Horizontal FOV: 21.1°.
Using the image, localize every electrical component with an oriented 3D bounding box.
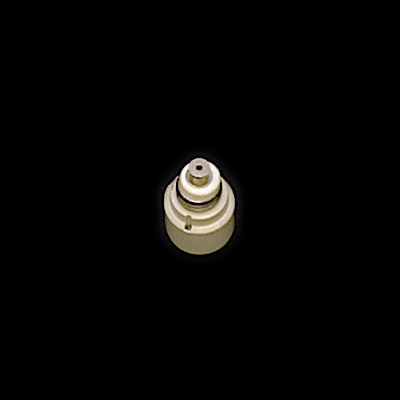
[{"bbox_3d":[0.000,0.000,0.619,0.040,0.040,0.078,0,-26,0],"label":"electrical component"}]
